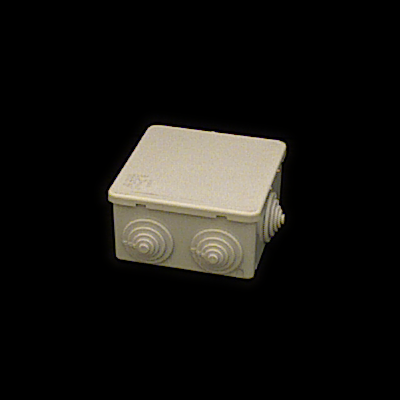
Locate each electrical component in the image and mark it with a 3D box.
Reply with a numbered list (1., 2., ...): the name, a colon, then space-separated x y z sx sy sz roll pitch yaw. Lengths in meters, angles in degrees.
1. electrical component: 0.000 0.000 0.643 0.099 0.049 0.099 8 33 11
